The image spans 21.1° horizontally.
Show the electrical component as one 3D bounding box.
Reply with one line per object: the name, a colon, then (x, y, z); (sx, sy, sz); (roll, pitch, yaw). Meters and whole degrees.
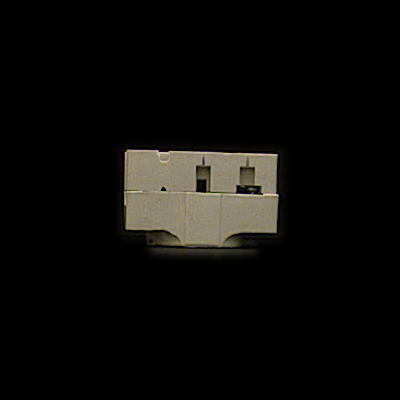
electrical component: (0.000, 0.000, 0.655); (0.090, 0.056, 0.050); (1, 2, -6)
